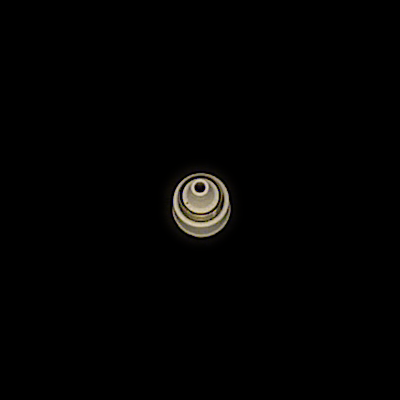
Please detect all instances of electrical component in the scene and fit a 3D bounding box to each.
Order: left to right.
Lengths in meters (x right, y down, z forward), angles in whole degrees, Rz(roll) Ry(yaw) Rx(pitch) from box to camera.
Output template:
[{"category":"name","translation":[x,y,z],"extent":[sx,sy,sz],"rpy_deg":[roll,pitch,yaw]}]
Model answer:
[{"category":"electrical component","translation":[0.000,0.000,0.637],"extent":[0.035,0.035,0.061],"rpy_deg":[0,-15,2]}]
